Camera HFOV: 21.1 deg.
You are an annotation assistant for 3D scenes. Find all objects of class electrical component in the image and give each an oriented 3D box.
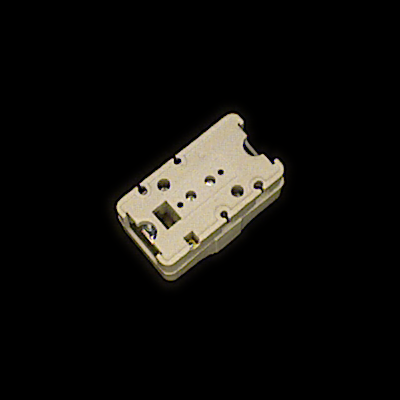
[{"bbox_3d":[0.000,0.000,0.636,0.090,0.050,0.055,-39,-12,-10],"label":"electrical component"}]
